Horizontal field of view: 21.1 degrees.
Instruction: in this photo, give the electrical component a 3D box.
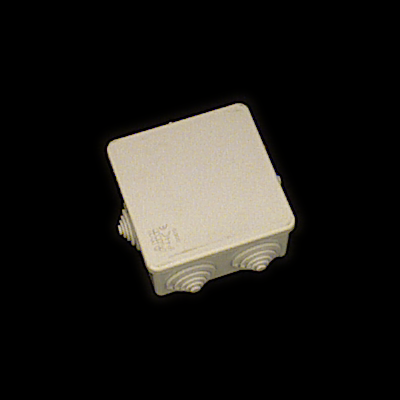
[{"bbox_3d":[0.000,0.000,0.639,0.100,0.099,0.048,-17,-25,-9],"label":"electrical component"}]
